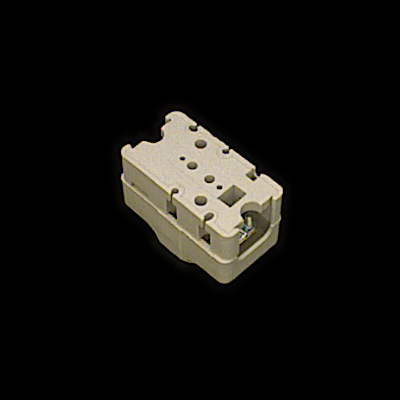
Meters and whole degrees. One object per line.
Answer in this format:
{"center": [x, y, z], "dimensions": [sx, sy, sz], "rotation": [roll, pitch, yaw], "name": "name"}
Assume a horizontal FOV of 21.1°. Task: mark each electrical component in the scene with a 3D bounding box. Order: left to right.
{"center": [0.000, 0.000, 0.637], "dimensions": [0.089, 0.056, 0.050], "rotation": [39, 61, 24], "name": "electrical component"}
